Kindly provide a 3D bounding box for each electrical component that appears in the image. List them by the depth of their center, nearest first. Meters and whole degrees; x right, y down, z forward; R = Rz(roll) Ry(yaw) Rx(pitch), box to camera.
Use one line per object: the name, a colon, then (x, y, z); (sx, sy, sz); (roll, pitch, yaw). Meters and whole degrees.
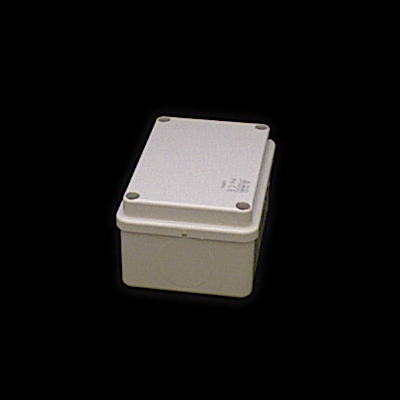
electrical component: (0.000, 0.000, 0.634); (0.078, 0.058, 0.112); (5, 31, 7)
